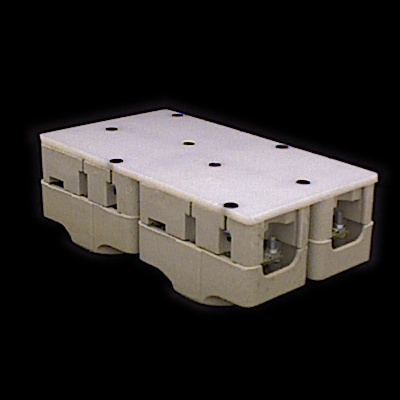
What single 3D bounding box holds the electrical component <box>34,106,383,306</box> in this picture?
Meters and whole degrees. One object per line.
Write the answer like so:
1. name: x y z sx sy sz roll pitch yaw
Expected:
1. electrical component: 0.000 0.000 0.638 0.105 0.061 0.184 -17 27 -40
